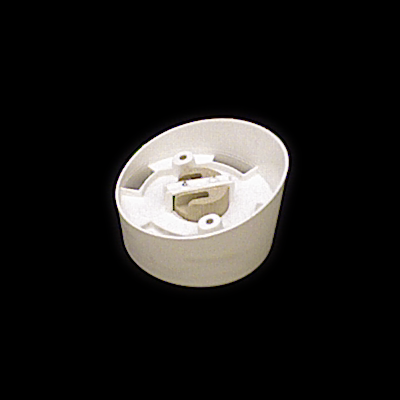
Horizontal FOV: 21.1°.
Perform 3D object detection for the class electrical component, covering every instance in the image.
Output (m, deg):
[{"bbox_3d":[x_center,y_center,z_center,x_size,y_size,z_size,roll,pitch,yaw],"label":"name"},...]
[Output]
[{"bbox_3d":[0.000,0.000,0.630,0.099,0.065,0.097,1,41,-1],"label":"electrical component"}]
